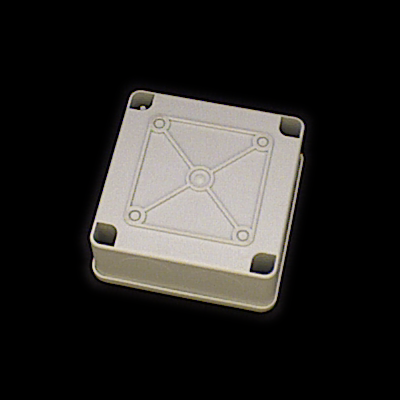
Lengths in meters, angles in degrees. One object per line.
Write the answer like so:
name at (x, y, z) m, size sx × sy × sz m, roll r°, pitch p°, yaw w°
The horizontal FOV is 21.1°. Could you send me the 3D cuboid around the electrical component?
electrical component at (0.000, 0.000, 0.628) m, size 0.108 × 0.109 × 0.056 m, roll 10°, pitch -27°, yaw 5°
